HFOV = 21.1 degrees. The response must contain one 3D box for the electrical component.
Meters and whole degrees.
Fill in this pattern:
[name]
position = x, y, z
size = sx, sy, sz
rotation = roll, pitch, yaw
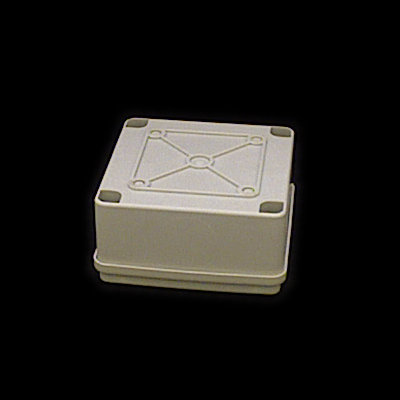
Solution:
[electrical component]
position = 0.000, 0.000, 0.632
size = 0.108, 0.057, 0.107
rotation = 4, 32, 5
